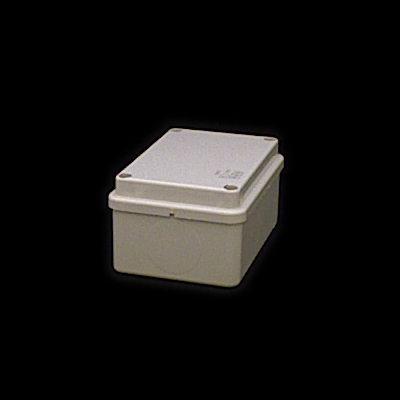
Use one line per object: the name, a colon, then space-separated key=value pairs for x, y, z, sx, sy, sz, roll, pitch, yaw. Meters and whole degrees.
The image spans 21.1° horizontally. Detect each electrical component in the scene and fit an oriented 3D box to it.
electrical component: x=0.000 y=0.000 z=0.638 sx=0.078 sy=0.058 sz=0.112 roll=7 pitch=21 yaw=15
